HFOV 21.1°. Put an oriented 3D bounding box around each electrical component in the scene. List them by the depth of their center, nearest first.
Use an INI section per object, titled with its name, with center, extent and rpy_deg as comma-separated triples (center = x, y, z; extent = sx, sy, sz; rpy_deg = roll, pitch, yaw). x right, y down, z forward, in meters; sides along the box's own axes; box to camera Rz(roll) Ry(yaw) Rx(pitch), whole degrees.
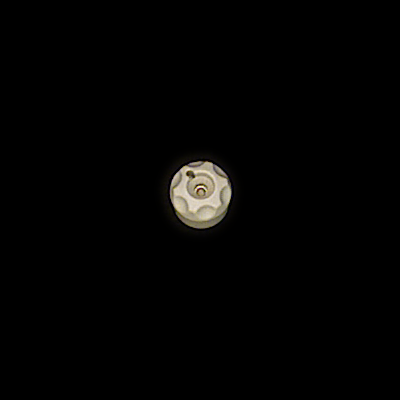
[electrical component]
center = 0.000, 0.000, 0.634
extent = 0.035, 0.035, 0.061
rpy_deg = 0, -16, 1
